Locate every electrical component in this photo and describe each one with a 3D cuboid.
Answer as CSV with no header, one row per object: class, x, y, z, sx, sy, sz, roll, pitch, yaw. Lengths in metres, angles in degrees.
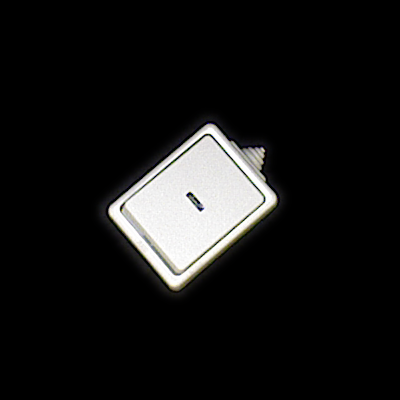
electrical component,0.000,0.000,0.626,0.096,0.062,0.061,-41,-5,-4
